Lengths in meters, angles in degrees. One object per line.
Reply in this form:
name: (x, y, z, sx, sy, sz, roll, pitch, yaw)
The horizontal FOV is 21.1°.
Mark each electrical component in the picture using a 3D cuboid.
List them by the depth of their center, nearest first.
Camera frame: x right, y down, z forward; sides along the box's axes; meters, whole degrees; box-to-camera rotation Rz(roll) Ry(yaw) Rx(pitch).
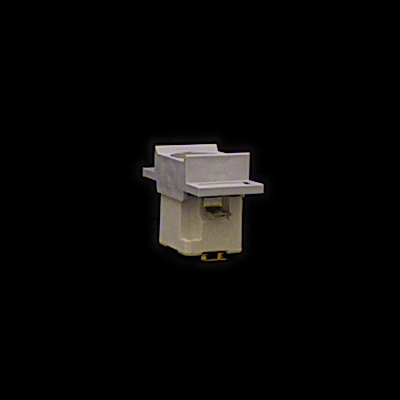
electrical component: (0.000, 0.000, 0.646, 0.042, 0.064, 0.080, -5, 13, -25)
